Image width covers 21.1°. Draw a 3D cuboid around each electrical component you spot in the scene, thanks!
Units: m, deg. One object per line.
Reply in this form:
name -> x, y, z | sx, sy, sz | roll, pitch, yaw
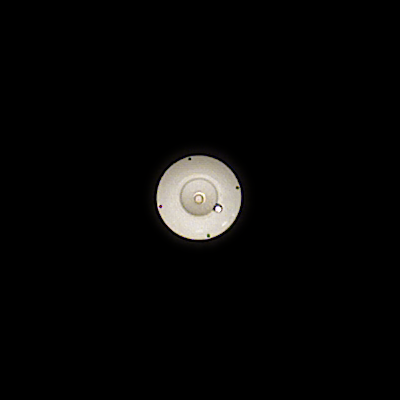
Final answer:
electrical component -> 0.000, 0.000, 0.635 | 0.048, 0.048, 0.062 | 0, -6, 1
